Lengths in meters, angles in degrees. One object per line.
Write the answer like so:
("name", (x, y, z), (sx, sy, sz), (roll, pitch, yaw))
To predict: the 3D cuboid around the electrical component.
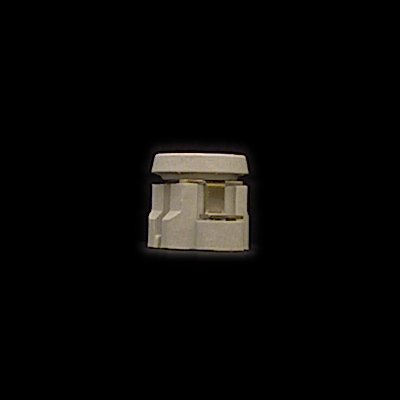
("electrical component", (0.000, 0.000, 0.648), (0.058, 0.057, 0.078), (1, 1, -25))
